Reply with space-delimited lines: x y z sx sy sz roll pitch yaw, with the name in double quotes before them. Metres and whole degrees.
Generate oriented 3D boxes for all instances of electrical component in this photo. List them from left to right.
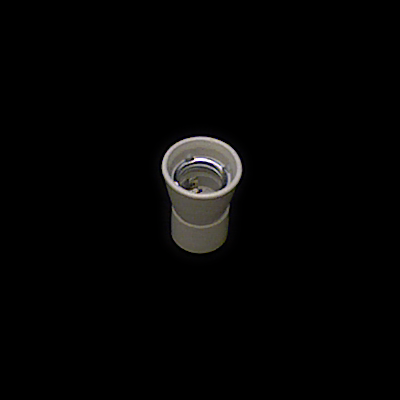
"electrical component" 0.000 0.000 0.627 0.044 0.044 0.065 0 -38 -1
